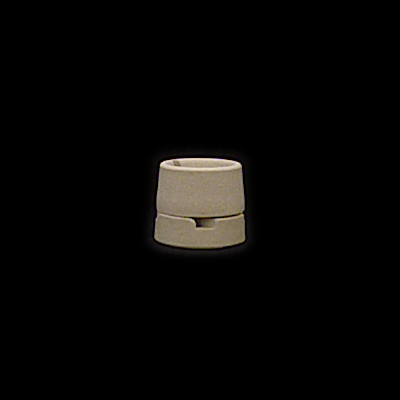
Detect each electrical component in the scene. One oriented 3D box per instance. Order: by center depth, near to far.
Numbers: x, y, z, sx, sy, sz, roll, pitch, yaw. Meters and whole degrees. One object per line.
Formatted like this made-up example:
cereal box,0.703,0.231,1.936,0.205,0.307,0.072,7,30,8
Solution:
electrical component,0.000,0.000,0.647,0.055,0.047,0.055,1,10,0
